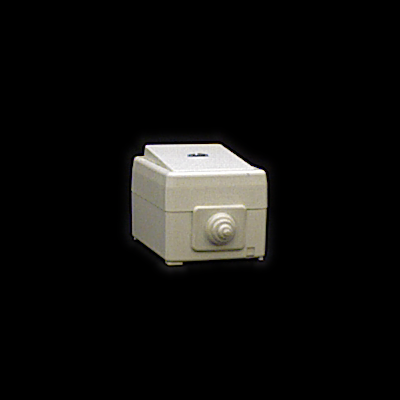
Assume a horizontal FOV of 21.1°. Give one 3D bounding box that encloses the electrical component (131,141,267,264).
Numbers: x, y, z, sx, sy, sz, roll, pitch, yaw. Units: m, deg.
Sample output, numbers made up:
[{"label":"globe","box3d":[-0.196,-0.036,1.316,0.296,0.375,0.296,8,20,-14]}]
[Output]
[{"label":"electrical component","box3d":[0.000,0.000,0.642,0.062,0.061,0.095,-3,11,-19]}]
